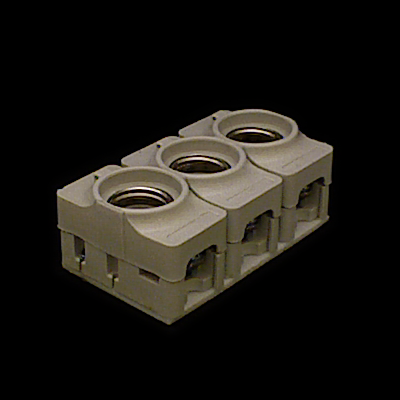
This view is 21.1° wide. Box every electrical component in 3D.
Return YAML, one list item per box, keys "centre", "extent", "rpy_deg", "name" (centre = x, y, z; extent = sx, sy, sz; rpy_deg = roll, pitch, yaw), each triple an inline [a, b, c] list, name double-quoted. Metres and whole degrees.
- centre: [0.000, 0.000, 0.641]
  extent: [0.088, 0.063, 0.149]
  rpy_deg: [24, 37, 34]
  name: "electrical component"
